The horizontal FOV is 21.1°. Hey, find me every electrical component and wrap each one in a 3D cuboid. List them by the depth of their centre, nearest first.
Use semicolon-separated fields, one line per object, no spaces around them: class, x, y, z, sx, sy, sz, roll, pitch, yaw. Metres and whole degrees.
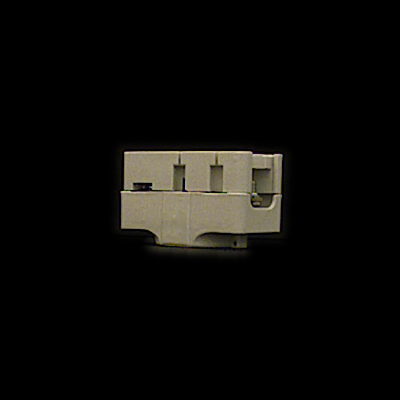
electrical component;0.000;0.000;0.657;0.089;0.056;0.050;3;1;34
